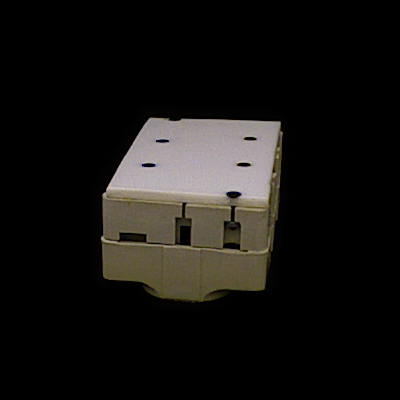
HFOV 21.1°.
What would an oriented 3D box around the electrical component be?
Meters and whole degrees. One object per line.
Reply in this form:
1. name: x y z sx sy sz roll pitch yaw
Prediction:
1. electrical component: 0.000 0.000 0.642 0.089 0.063 0.147 3 21 6
